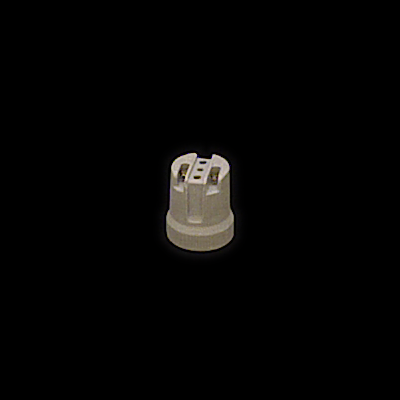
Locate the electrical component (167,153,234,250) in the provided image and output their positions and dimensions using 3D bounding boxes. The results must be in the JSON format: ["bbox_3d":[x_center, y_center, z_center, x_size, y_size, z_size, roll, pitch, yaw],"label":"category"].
[{"bbox_3d":[0.000,0.000,0.637,0.040,0.046,0.040,1,31,0],"label":"electrical component"}]
